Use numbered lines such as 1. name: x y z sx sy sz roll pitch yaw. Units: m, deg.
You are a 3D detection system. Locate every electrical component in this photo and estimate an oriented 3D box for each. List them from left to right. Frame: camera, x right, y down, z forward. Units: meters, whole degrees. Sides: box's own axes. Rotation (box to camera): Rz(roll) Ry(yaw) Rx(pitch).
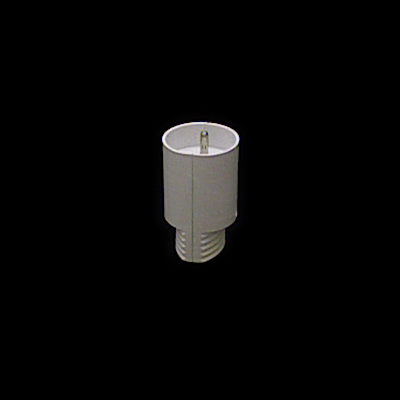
1. electrical component: 0.000 0.000 0.630 0.043 0.082 0.042 1 31 -1
